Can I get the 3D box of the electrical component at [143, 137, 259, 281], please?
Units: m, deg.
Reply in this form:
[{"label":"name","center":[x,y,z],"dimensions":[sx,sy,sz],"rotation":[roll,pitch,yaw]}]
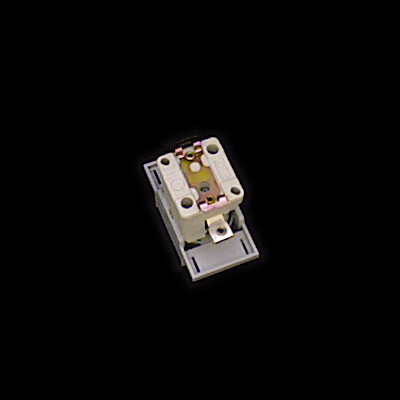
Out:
[{"label":"electrical component","center":[0.000,0.000,0.625],"dimensions":[0.042,0.081,0.063],"rotation":[-21,-25,-10]}]
